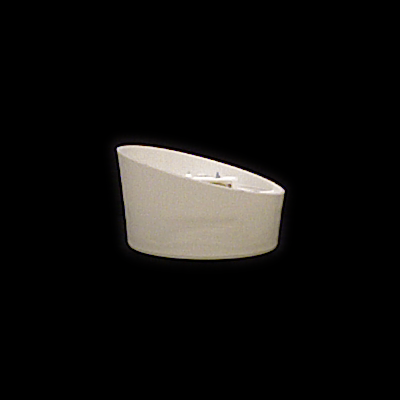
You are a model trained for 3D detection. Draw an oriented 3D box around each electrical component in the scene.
[{"bbox_3d":[0.000,0.000,0.643,0.099,0.064,0.098,0,10,0],"label":"electrical component"}]
